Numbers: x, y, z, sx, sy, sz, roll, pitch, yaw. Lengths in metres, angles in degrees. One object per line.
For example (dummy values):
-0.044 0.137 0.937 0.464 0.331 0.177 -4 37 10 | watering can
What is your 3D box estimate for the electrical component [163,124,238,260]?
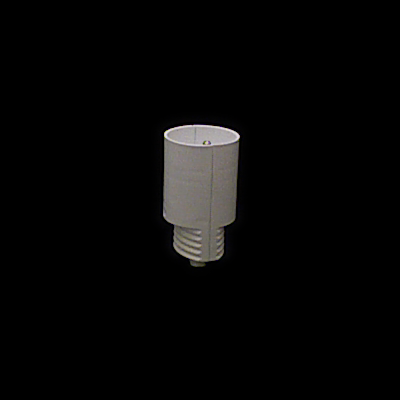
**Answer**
0.000 0.000 0.634 0.043 0.082 0.042 1 22 0 | electrical component
